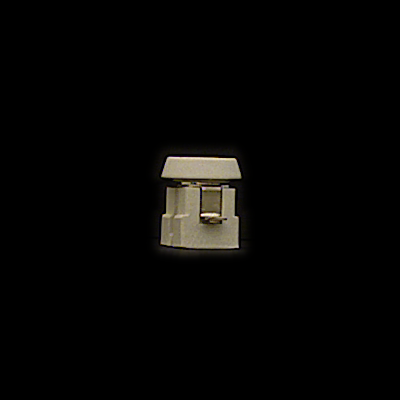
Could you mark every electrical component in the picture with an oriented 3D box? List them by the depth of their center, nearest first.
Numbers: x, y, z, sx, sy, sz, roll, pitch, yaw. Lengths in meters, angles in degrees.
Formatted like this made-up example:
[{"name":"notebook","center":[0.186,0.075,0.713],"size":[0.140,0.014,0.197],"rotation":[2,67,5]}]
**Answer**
[{"name":"electrical component","center":[0.000,0.000,0.656],"size":[0.049,0.055,0.066],"rotation":[-1,2,-20]}]
